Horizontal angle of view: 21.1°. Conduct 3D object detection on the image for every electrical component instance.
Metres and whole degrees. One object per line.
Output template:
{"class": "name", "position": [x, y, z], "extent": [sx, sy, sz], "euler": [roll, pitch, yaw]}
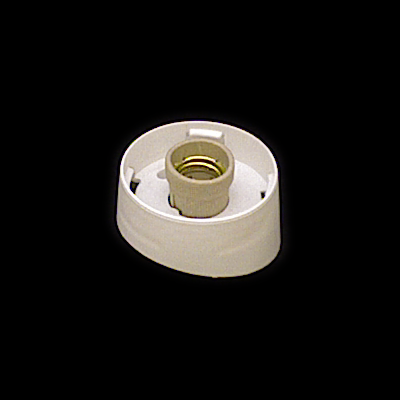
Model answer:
{"class": "electrical component", "position": [0.000, 0.000, 0.629], "extent": [0.099, 0.064, 0.098], "euler": [1, 42, 0]}
